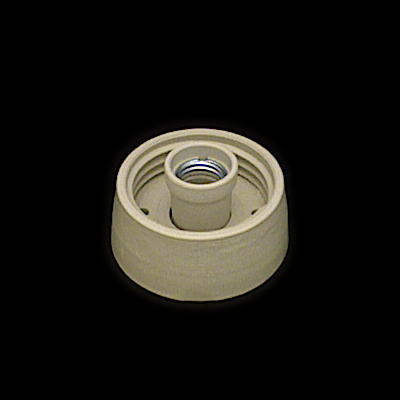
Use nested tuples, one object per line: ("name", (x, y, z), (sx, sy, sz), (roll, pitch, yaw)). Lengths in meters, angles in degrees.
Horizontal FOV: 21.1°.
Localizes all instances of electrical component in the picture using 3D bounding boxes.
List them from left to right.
("electrical component", (0.000, 0.000, 0.636), (0.108, 0.061, 0.107), (1, 42, 0))
